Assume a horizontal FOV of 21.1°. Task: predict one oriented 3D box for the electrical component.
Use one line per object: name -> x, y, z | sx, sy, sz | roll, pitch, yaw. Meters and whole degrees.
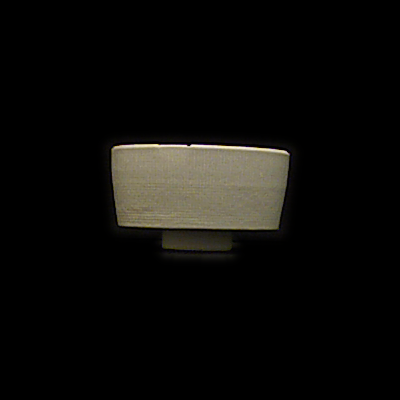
electrical component -> 0.000, 0.000, 0.652 | 0.108, 0.060, 0.108 | 1, 0, 0
